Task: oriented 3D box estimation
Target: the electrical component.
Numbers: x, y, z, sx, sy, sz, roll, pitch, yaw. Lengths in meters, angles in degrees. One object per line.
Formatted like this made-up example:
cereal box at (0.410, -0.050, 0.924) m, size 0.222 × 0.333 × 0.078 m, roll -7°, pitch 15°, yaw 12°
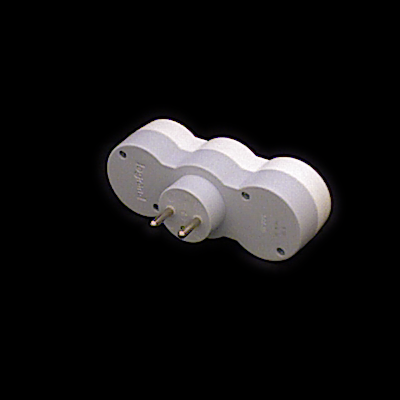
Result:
electrical component at (0.000, 0.000, 0.636) m, size 0.138 × 0.053 × 0.073 m, roll 19°, pitch 38°, yaw 26°
